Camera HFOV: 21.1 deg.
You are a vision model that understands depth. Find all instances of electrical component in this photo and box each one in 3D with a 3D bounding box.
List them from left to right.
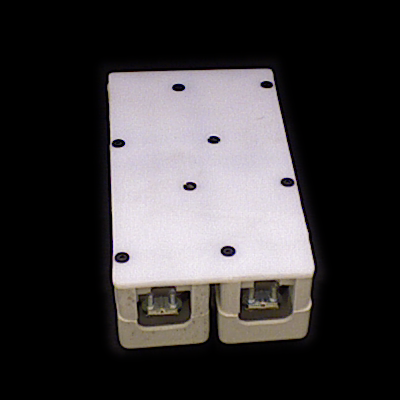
[{"bbox_3d":[0.000,0.000,0.629,0.105,0.061,0.184,-2,42,-4],"label":"electrical component"}]
